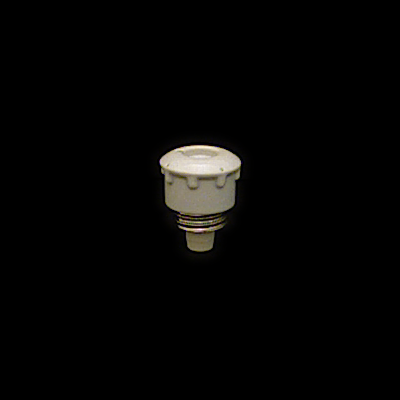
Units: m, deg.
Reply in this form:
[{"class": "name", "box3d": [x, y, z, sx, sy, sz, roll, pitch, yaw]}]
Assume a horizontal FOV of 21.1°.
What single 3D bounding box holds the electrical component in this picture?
[{"class": "electrical component", "box3d": [0.000, 0.000, 0.643, 0.048, 0.062, 0.047, 1, 21, 0]}]
